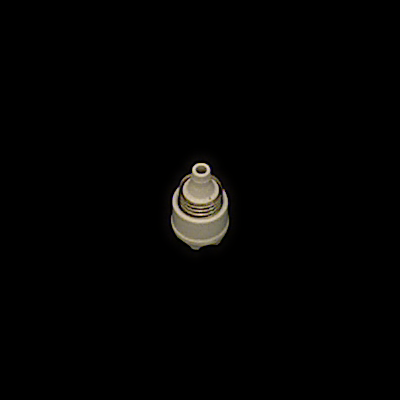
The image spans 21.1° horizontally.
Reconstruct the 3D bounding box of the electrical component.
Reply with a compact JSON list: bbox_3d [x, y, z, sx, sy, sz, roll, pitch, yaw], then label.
[{"bbox_3d":[0.000,0.000,0.640,0.035,0.035,0.062,0,-37,-2],"label":"electrical component"}]
